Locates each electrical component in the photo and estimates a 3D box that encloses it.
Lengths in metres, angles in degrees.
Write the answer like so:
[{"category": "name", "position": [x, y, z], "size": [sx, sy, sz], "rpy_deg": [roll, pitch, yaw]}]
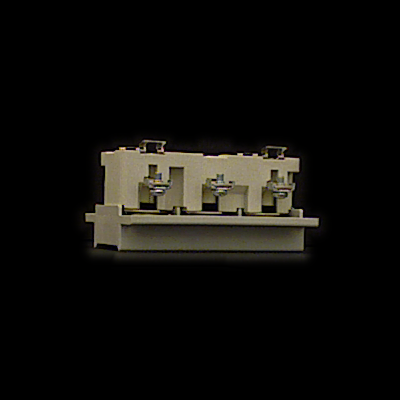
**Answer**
[{"category": "electrical component", "position": [0.000, 0.000, 0.659], "size": [0.122, 0.063, 0.078], "rpy_deg": [2, 0, -25]}]
